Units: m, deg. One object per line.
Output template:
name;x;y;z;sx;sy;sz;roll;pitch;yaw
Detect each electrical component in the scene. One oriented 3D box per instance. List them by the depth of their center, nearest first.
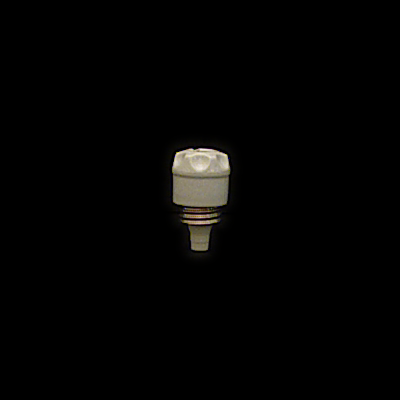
electrical component;0.000;0.000;0.654;0.035;0.062;0.035;1;12;0
